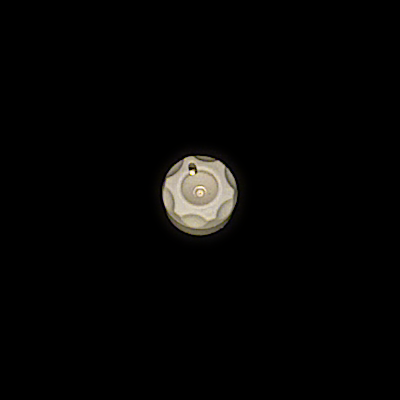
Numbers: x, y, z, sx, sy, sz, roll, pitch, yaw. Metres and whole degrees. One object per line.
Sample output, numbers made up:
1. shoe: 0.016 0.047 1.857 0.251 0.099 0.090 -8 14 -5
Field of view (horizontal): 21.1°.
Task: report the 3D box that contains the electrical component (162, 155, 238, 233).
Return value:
1. electrical component: 0.000 0.000 0.633 0.043 0.043 0.061 0 -15 0
